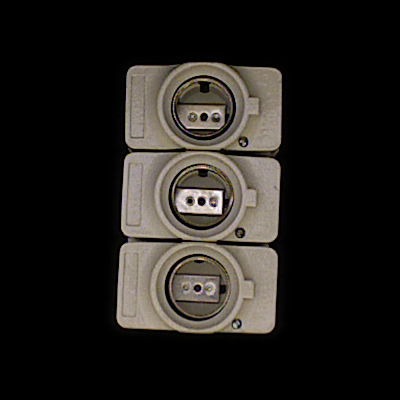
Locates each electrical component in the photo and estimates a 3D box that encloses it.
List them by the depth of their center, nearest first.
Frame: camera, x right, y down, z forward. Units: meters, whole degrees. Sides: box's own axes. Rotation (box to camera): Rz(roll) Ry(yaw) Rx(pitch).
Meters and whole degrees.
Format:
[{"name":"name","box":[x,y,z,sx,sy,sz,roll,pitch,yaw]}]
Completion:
[{"name":"electrical component","box":[0.000,0.000,0.632,0.089,0.150,0.061,2,-6,0]}]
